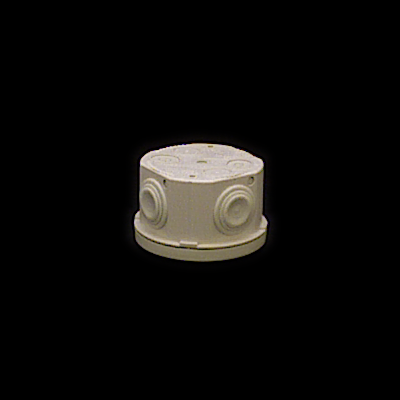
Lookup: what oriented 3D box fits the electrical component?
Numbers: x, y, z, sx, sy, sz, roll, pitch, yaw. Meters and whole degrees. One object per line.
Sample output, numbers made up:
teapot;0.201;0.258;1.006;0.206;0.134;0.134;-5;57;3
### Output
electrical component;0.000;0.000;0.642;0.080;0.051;0.079;1;20;0
